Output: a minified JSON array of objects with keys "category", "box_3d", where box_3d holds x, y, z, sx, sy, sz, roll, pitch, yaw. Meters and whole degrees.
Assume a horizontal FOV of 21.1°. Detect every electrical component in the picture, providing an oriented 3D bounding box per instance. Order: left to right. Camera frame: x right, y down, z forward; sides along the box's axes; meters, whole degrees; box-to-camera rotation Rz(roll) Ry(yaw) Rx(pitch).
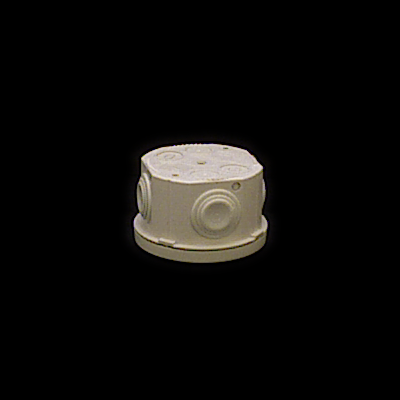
[{"category":"electrical component","box_3d":[0.000,0.000,0.639,0.080,0.051,0.079,1,22,0]}]
